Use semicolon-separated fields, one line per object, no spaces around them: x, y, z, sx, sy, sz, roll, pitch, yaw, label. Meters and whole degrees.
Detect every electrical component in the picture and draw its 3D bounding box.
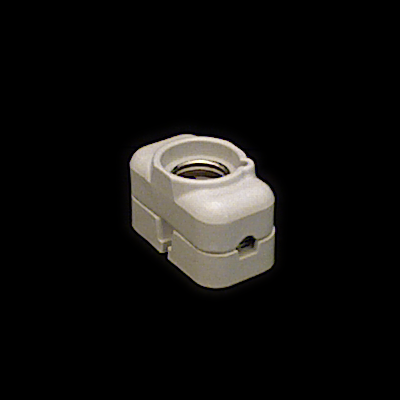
0.000;0.000;0.642;0.054;0.060;0.093;-21;38;-30;electrical component
